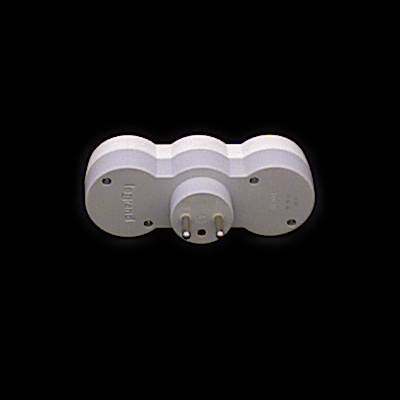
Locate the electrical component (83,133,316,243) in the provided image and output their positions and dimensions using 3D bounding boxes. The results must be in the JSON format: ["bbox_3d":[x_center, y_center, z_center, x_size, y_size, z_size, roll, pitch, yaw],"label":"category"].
[{"bbox_3d":[0.000,0.000,0.637,0.138,0.053,0.073,0,34,-4],"label":"electrical component"}]
